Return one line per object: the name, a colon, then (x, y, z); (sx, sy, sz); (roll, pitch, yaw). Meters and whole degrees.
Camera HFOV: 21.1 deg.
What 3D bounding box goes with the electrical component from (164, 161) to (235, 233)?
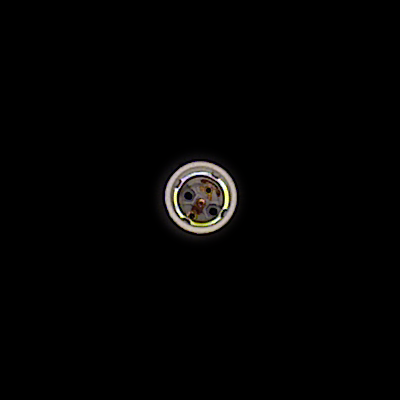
electrical component: (0.000, 0.000, 0.627); (0.040, 0.040, 0.046); (0, -6, 0)
